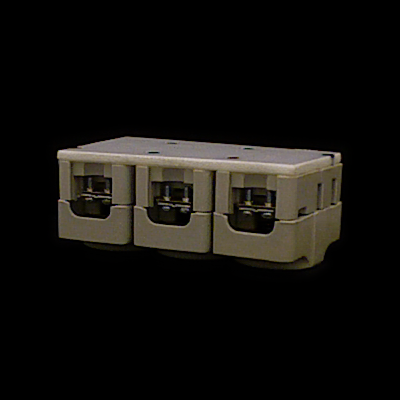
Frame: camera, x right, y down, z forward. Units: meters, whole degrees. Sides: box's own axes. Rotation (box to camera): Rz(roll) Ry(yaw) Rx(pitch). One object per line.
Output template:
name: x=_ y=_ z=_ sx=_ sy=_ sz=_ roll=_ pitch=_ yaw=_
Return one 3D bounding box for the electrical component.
electrical component: x=0.000 y=0.000 z=0.652 sx=0.150 sy=0.062 sz=0.088 roll=6 pitch=11 yaw=24
